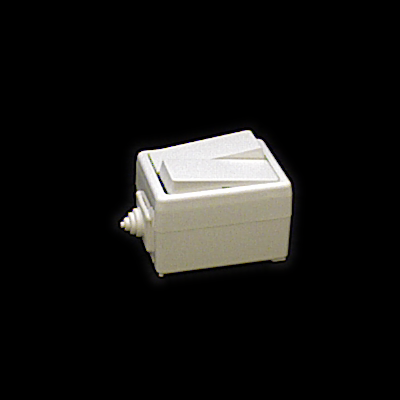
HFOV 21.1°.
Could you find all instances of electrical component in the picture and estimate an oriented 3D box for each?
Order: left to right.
[{"bbox_3d":[0.000,0.000,0.634,0.096,0.061,0.061,-7,32,-13],"label":"electrical component"}]
